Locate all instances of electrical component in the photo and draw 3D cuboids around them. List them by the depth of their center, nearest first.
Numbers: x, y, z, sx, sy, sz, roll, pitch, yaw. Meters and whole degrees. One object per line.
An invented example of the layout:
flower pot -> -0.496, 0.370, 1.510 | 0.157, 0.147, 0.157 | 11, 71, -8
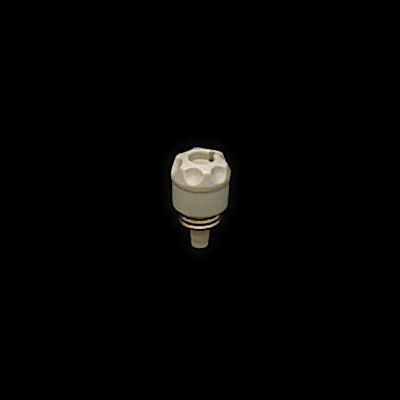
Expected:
electrical component -> 0.000, 0.000, 0.642 | 0.035, 0.062, 0.034 | 1, 32, 0
